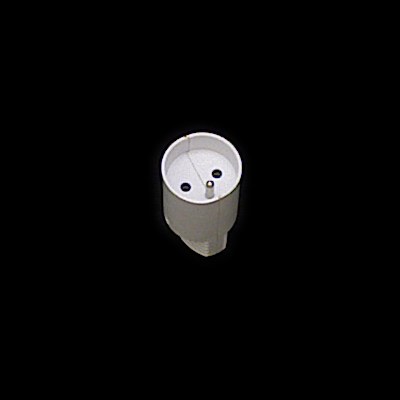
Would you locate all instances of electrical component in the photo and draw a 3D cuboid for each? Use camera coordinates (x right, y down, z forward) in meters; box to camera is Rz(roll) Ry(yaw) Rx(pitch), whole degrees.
[{"bbox_3d":[0.000,0.000,0.616,0.043,0.043,0.081,0,-26,0],"label":"electrical component"}]
